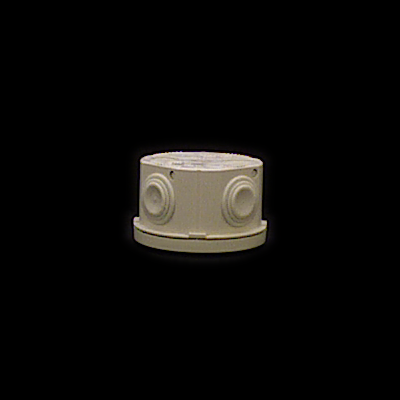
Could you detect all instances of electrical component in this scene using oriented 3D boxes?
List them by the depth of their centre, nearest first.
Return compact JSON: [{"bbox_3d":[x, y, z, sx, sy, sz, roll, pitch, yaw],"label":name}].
[{"bbox_3d":[0.000,0.000,0.644,0.080,0.051,0.079,1,11,0],"label":"electrical component"}]
